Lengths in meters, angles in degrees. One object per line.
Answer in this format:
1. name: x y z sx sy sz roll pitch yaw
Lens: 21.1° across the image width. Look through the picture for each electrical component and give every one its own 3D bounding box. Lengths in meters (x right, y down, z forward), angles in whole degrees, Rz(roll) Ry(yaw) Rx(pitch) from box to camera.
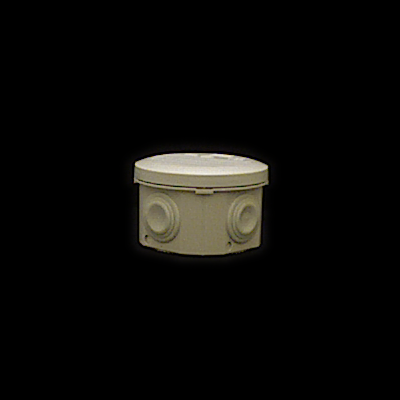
1. electrical component: 0.000 0.000 0.644 0.080 0.051 0.079 1 11 0
